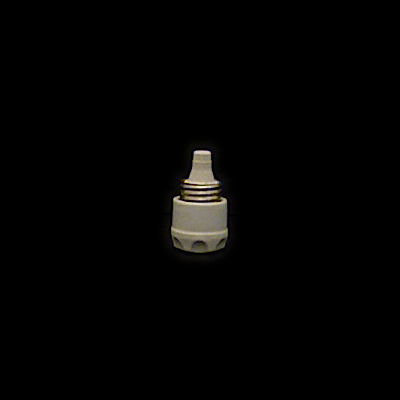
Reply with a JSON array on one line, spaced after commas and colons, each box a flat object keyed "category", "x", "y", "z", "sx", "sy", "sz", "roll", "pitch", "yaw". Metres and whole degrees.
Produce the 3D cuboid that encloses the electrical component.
[{"category": "electrical component", "x": 0.000, "y": 0.000, "z": 0.659, "sx": 0.035, "sy": 0.062, "sz": 0.035, "roll": 2, "pitch": 13, "yaw": 0}]
